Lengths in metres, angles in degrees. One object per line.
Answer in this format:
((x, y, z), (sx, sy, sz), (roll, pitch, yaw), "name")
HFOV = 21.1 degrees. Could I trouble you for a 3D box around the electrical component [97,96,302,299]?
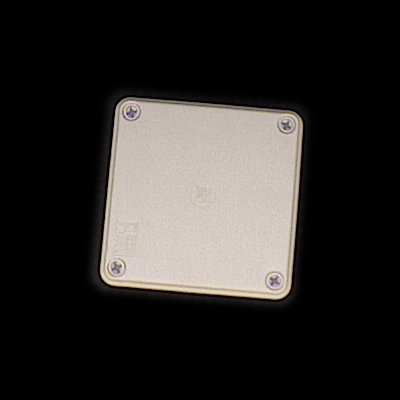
((0.000, 0.000, 0.631), (0.109, 0.109, 0.056), (5, -7, 0), "electrical component")
